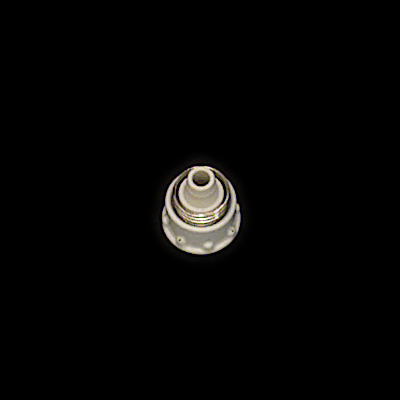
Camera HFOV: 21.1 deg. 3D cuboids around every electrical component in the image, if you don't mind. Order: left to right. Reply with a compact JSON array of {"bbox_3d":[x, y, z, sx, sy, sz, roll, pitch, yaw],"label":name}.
[{"bbox_3d":[0.000,0.000,0.633,0.048,0.048,0.062,0,-26,0],"label":"electrical component"}]
